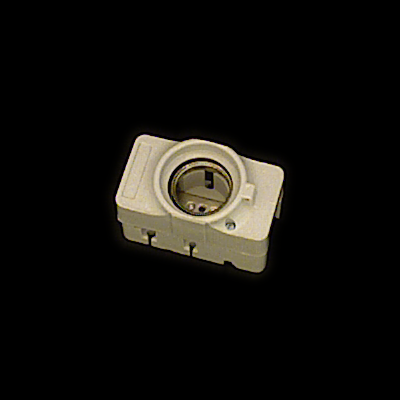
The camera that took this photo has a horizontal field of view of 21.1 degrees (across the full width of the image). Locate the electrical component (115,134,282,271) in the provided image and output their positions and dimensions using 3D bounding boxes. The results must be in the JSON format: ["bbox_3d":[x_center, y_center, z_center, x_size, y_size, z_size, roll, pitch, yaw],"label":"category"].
[{"bbox_3d":[0.000,0.000,0.635,0.089,0.050,0.055,13,-26,7],"label":"electrical component"}]
